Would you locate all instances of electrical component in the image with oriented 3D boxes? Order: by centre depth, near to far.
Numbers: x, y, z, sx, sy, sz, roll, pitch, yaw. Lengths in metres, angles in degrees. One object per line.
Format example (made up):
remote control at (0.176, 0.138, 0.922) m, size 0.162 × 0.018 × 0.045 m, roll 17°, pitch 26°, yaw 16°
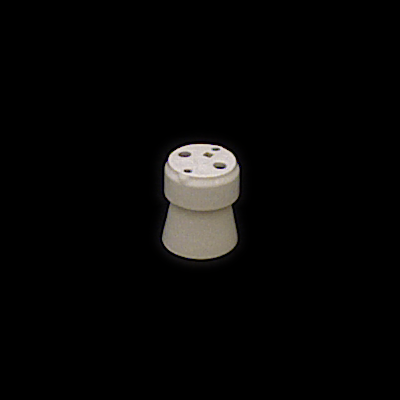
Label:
electrical component at (0.000, 0.000, 0.635) m, size 0.045 × 0.056 × 0.044 m, roll 1°, pitch 33°, yaw 0°
